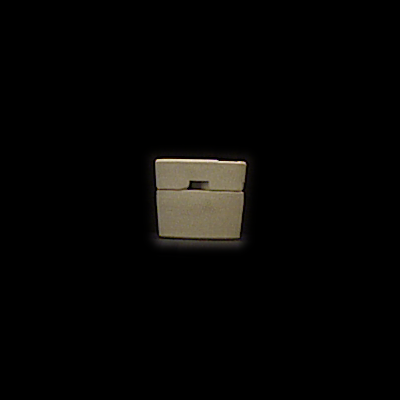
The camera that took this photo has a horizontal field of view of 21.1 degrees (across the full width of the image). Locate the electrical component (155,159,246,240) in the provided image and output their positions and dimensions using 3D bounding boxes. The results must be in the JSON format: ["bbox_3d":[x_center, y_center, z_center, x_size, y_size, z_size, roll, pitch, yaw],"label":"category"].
[{"bbox_3d":[0.000,0.000,0.650,0.055,0.047,0.055,1,1,0],"label":"electrical component"}]
